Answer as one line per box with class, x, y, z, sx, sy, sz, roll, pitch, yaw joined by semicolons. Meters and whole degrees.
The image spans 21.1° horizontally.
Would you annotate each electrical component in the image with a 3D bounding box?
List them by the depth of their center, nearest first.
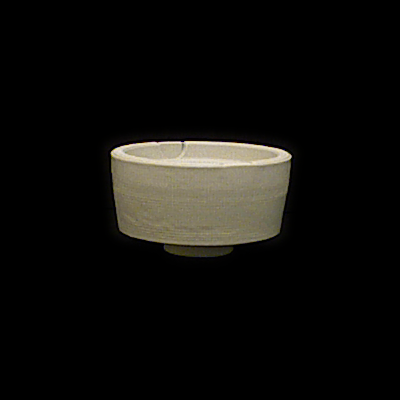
electrical component;0.000;0.000;0.649;0.108;0.061;0.107;1;11;0
